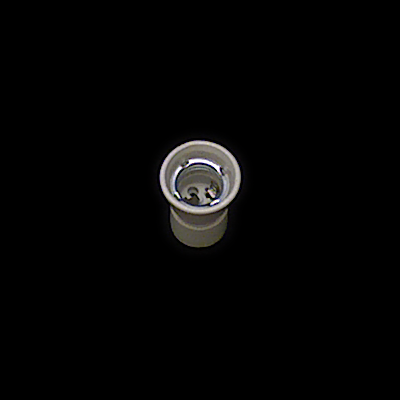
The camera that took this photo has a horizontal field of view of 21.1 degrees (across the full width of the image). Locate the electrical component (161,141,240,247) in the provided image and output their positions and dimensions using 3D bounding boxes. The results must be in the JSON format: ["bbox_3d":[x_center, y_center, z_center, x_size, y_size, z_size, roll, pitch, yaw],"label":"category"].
[{"bbox_3d":[0.000,0.000,0.624,0.044,0.044,0.065,0,-26,-1],"label":"electrical component"}]
